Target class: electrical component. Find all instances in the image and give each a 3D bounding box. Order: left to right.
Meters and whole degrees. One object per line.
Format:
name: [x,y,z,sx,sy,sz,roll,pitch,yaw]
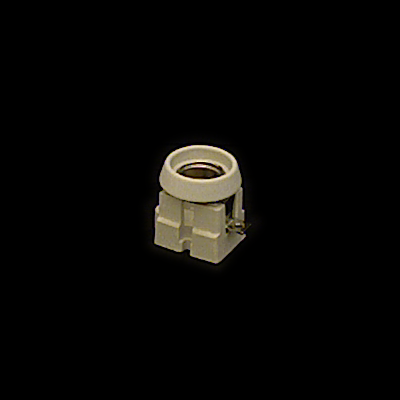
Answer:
electrical component: [0.000,0.000,0.643,0.066,0.056,0.048,16,37,23]
